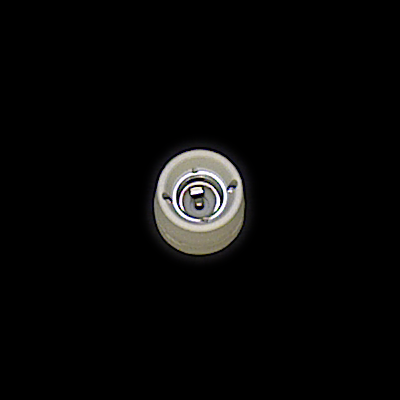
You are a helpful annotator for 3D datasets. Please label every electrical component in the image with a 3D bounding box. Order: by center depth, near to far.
[{"bbox_3d":[0.000,0.000,0.633,0.055,0.056,0.047,0,-17,-1],"label":"electrical component"}]
